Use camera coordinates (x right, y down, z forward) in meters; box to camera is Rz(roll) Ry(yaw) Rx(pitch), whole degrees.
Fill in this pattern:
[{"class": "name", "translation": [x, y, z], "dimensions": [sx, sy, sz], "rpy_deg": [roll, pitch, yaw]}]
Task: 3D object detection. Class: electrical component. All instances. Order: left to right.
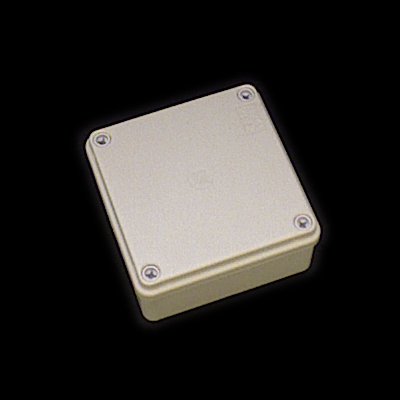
[{"class": "electrical component", "translation": [0.000, 0.000, 0.628], "dimensions": [0.109, 0.109, 0.056], "rpy_deg": [-18, -26, -9]}]
